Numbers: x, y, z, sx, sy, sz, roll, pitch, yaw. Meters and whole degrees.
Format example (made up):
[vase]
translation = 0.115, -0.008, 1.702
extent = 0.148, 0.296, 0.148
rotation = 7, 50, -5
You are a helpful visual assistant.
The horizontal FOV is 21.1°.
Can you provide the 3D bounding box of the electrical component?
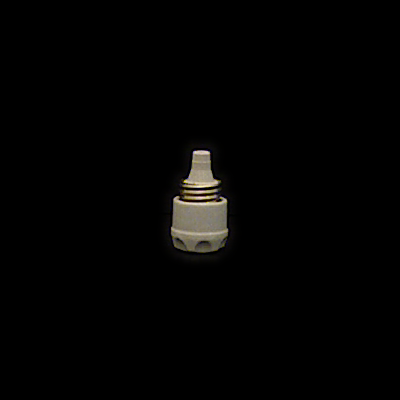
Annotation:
[electrical component]
translation = 0.000, 0.000, 0.659
extent = 0.035, 0.062, 0.035
rotation = 1, 14, 0
